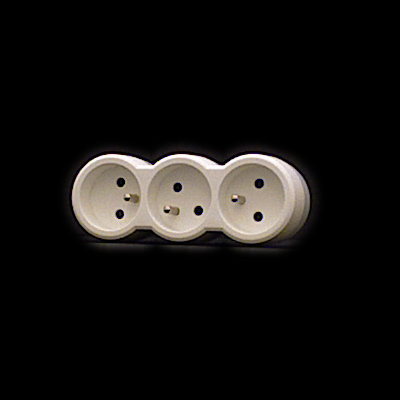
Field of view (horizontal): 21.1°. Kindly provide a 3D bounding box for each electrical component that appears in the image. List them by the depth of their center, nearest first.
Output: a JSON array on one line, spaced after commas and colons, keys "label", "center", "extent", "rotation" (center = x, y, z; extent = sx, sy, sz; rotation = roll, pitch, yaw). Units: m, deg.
[{"label": "electrical component", "center": [0.000, 0.000, 0.650], "extent": [0.138, 0.052, 0.074], "rotation": [0, -2, 19]}]
